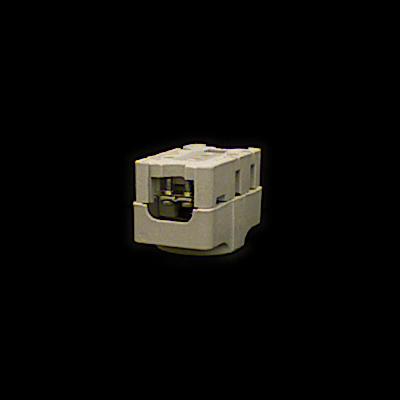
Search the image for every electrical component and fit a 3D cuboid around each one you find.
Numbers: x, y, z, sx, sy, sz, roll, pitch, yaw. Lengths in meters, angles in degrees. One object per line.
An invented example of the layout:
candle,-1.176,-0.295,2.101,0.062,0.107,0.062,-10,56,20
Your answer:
electrical component,0.000,0.000,0.651,0.050,0.056,0.089,5,11,22
